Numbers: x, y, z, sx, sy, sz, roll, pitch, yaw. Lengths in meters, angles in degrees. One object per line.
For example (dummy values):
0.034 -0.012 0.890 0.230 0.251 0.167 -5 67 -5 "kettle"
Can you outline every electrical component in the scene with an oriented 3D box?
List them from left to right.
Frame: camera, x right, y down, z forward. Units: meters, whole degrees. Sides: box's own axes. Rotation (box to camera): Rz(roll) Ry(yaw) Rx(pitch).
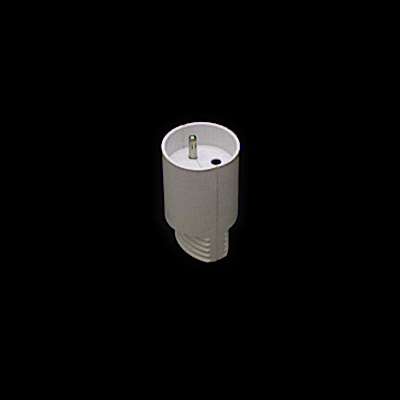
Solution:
0.000 0.000 0.623 0.043 0.082 0.042 1 41 0 "electrical component"
